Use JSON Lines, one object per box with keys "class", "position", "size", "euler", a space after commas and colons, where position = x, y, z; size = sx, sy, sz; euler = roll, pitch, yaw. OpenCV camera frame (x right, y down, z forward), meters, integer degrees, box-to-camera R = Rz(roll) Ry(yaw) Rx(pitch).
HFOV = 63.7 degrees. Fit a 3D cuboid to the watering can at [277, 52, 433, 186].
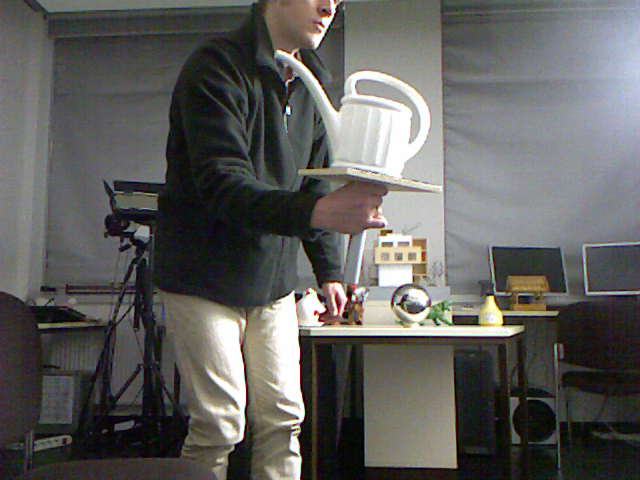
{"class": "watering can", "position": [0.063, -0.217, 0.978], "size": [0.348, 0.224, 0.105], "euler": [9, 5, -25]}
